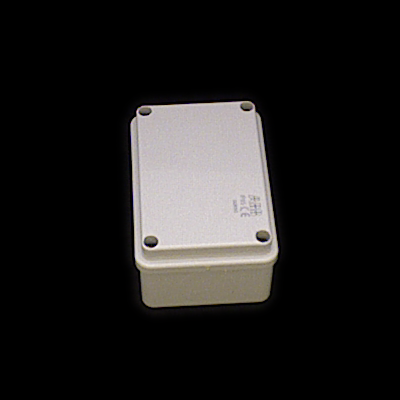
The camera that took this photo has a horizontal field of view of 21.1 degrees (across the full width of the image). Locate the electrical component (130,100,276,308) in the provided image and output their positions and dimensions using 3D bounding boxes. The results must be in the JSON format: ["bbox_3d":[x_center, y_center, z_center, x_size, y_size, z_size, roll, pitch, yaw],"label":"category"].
[{"bbox_3d":[0.000,0.000,0.629,0.078,0.112,0.057,-3,-38,-3],"label":"electrical component"}]
